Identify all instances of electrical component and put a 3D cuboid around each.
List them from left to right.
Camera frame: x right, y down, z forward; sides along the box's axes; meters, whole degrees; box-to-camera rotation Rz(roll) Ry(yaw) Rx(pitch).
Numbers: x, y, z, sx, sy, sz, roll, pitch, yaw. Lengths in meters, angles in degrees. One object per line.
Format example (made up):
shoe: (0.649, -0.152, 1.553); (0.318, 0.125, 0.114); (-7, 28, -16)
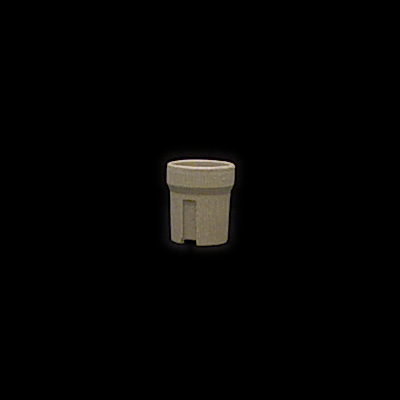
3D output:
electrical component: (0.000, 0.000, 0.646); (0.040, 0.046, 0.040); (1, 11, 0)
